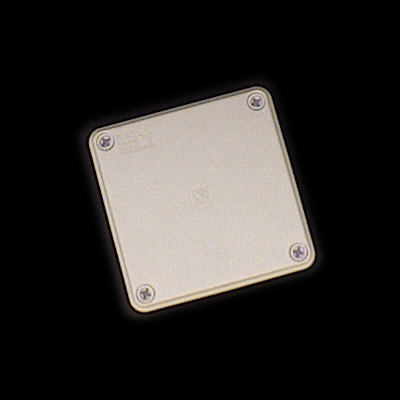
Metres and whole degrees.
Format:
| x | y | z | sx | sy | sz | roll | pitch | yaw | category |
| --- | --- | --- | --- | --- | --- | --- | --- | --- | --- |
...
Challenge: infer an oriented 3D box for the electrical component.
| x | y | z | sx | sy | sz | roll | pitch | yaw | category |
| --- | --- | --- | --- | --- | --- | --- | --- | --- | --- |
| 0.000 | 0.000 | 0.630 | 0.109 | 0.109 | 0.056 | -15 | -6 | -2 | electrical component |
